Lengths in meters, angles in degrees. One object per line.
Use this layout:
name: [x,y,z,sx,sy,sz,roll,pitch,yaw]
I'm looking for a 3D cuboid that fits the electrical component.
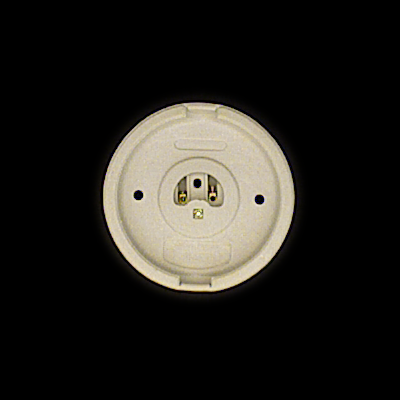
electrical component: [0.000,0.000,0.634,0.108,0.108,0.060,0,-6,0]
